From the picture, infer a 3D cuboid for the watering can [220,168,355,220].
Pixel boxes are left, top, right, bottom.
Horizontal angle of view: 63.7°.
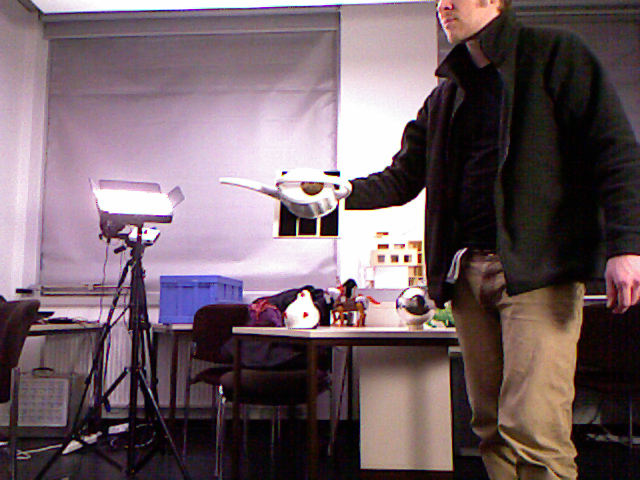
[{"bbox_3d":[-0.078,-0.132,1.397,0.348,0.106,0.221,1,-18,5],"label":"watering can"}]
